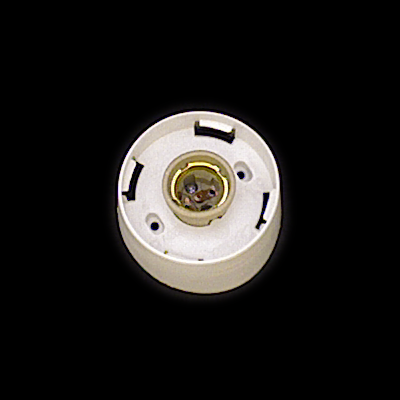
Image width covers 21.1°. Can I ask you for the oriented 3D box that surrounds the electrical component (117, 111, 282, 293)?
[{"bbox_3d":[0.000,0.000,0.624,0.099,0.099,0.064,0,-16,0],"label":"electrical component"}]
